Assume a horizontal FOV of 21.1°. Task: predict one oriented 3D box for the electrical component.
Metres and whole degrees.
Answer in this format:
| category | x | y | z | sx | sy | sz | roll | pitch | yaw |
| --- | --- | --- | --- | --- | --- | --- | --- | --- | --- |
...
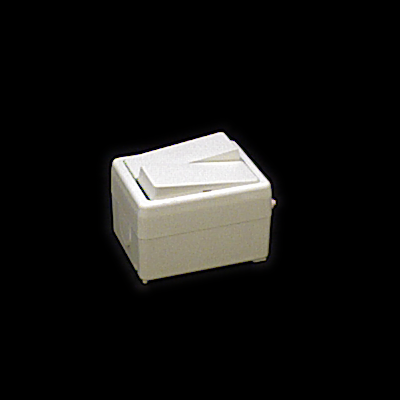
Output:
| category | x | y | z | sx | sy | sz | roll | pitch | yaw |
| --- | --- | --- | --- | --- | --- | --- | --- | --- | --- |
| electrical component | 0.000 | 0.000 | 0.635 | 0.096 | 0.061 | 0.061 | -10 | 33 | -17 |
